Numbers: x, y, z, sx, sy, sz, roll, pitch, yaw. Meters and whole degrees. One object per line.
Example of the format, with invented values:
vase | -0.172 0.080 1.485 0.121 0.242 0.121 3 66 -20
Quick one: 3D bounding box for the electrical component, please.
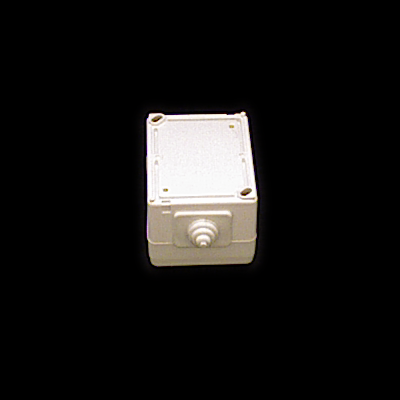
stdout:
electrical component | 0.000 0.000 0.630 0.062 0.061 0.095 -1 43 -2
